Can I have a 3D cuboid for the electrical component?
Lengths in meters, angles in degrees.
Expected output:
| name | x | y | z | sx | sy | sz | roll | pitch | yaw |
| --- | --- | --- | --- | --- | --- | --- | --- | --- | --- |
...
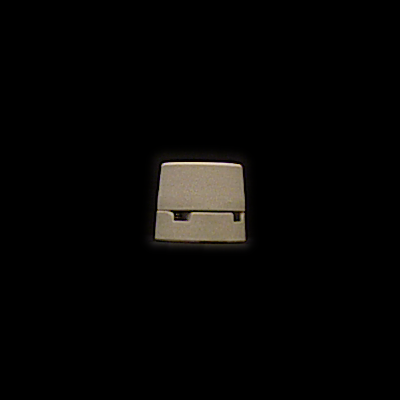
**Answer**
| name | x | y | z | sx | sy | sz | roll | pitch | yaw |
| --- | --- | --- | --- | --- | --- | --- | --- | --- | --- |
| electrical component | 0.000 | 0.000 | 0.652 | 0.055 | 0.047 | 0.055 | 1 | 0 | 0 |
